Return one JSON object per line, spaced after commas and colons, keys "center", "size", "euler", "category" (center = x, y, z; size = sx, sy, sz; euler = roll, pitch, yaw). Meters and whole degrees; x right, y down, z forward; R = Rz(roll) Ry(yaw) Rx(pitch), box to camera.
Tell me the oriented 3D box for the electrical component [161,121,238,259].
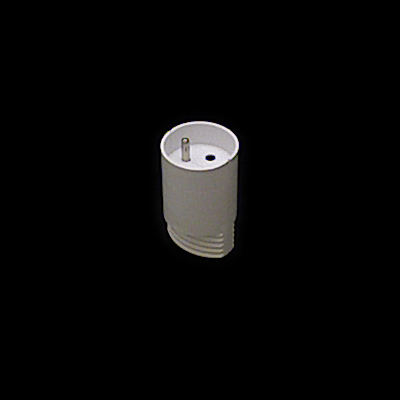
{"center": [0.000, 0.000, 0.622], "size": [0.043, 0.082, 0.042], "euler": [0, 41, 0], "category": "electrical component"}
